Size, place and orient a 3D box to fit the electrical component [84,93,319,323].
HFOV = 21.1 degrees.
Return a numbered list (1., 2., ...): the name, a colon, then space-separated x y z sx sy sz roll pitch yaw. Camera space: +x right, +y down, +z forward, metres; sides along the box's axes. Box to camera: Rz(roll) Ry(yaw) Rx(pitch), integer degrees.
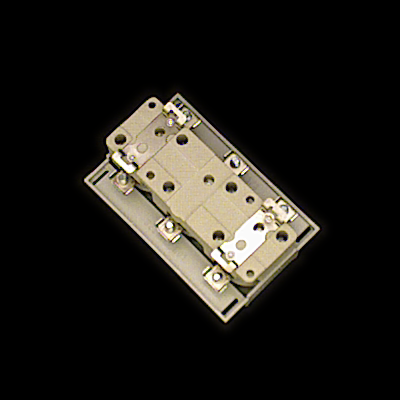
1. electrical component: 0.000 0.000 0.633 0.121 0.079 0.062 44 -10 12
